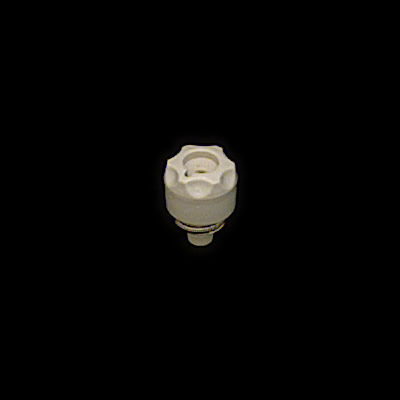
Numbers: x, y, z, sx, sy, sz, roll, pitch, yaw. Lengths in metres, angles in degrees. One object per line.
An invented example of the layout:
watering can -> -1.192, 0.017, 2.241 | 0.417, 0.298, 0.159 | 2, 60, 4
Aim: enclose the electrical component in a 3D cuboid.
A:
electrical component -> 0.000, 0.000, 0.639 | 0.043, 0.062, 0.043 | 1, 42, 0
